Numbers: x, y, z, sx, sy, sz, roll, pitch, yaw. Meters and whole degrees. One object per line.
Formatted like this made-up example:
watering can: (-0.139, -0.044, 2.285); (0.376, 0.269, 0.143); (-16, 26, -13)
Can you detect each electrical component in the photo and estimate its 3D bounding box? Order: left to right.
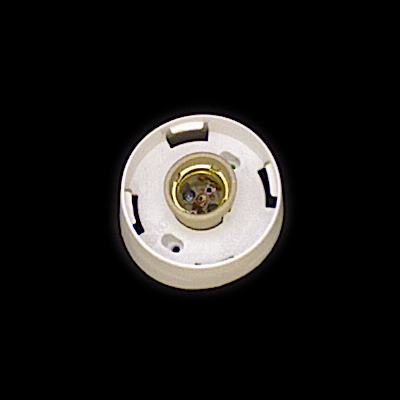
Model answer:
electrical component: (0.000, 0.000, 0.625); (0.099, 0.099, 0.064); (0, -17, 0)
